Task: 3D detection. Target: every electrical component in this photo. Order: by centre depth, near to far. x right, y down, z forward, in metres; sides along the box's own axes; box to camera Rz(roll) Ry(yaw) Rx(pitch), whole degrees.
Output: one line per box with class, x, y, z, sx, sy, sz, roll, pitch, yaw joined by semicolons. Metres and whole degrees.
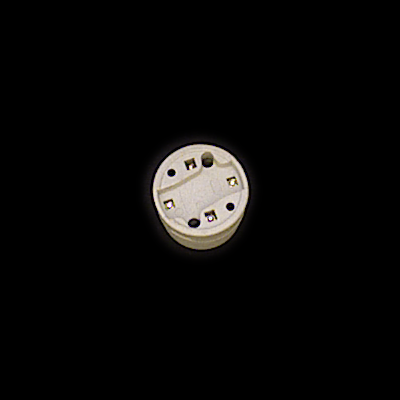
electrical component;0.000;0.000;0.634;0.055;0.056;0.047;0;-17;0
